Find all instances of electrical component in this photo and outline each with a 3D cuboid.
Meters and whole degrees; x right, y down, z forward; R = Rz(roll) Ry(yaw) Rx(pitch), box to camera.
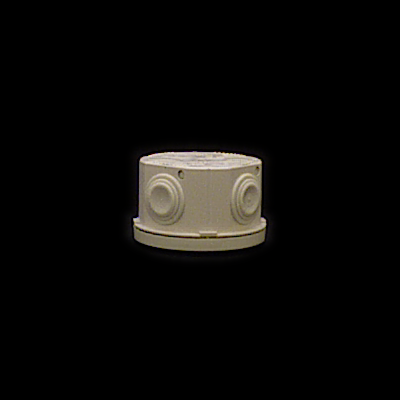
[{"bbox_3d":[0.000,0.000,0.647,0.080,0.051,0.079,1,10,0],"label":"electrical component"}]
